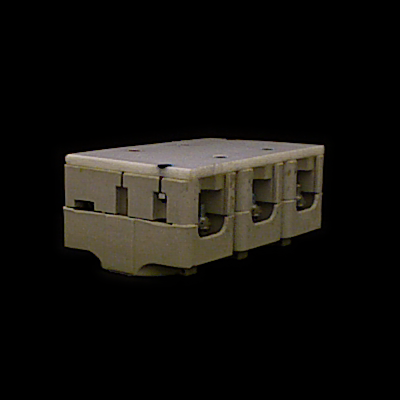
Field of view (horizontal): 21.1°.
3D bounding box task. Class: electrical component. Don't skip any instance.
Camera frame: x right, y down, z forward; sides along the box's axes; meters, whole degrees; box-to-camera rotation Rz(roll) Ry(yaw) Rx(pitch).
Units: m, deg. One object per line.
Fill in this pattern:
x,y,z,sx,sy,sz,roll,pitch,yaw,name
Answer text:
0.000,0.000,0.647,0.089,0.062,0.149,8,12,34,electrical component
